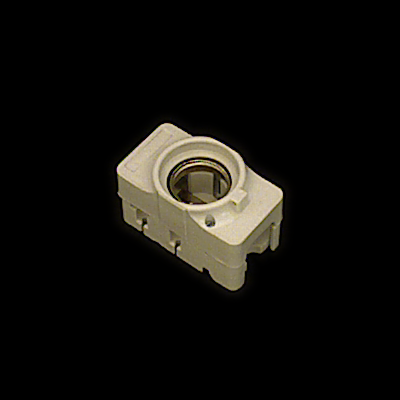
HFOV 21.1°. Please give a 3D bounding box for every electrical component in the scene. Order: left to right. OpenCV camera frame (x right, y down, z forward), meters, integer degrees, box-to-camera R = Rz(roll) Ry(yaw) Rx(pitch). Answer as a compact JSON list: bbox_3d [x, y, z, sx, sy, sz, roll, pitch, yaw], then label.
[{"bbox_3d":[0.000,0.000,0.637,0.089,0.050,0.056,31,-31,21],"label":"electrical component"}]
